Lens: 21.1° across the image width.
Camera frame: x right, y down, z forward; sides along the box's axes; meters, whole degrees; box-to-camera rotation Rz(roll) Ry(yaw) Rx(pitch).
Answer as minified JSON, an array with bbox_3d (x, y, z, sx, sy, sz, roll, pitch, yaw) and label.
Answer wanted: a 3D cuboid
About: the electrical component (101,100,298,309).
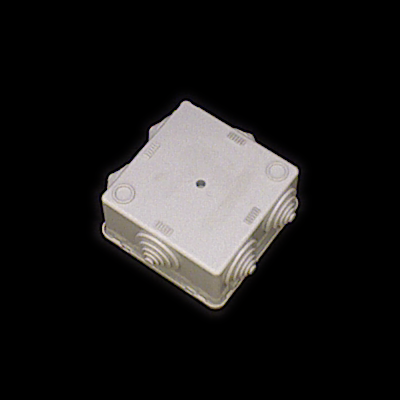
[{"bbox_3d":[0.000,0.000,0.632,0.099,0.100,0.048,33,-23,15],"label":"electrical component"}]
